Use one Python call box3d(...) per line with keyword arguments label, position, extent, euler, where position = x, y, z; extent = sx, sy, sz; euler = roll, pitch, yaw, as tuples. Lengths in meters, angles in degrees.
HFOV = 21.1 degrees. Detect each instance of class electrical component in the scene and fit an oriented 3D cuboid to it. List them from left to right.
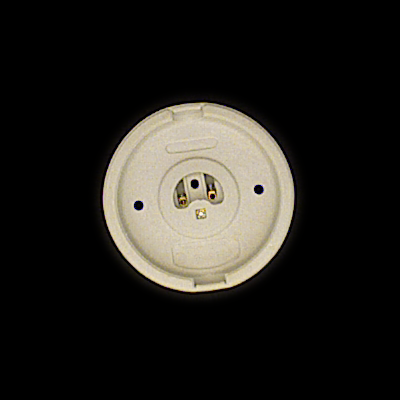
box3d(label="electrical component", position=(0.000, 0.000, 0.634), extent=(0.108, 0.108, 0.060), euler=(0, -6, 0))
